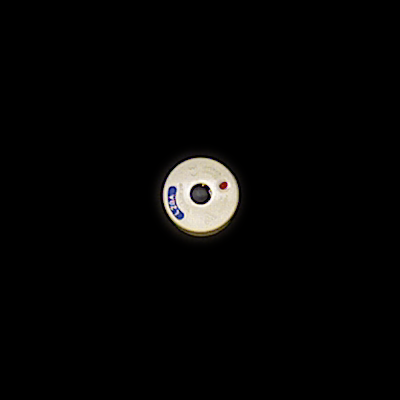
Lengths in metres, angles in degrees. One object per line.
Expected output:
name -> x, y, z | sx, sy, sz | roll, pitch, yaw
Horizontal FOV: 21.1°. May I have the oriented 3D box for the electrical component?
electrical component -> 0.000, 0.000, 0.617 | 0.040, 0.040, 0.078 | 0, -6, 0
